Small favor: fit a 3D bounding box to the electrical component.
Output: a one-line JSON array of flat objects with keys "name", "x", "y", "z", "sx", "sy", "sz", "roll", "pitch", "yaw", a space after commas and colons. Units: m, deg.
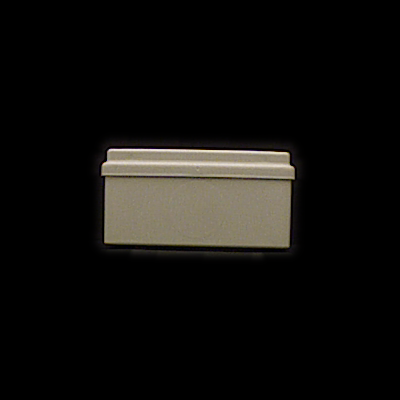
[{"name": "electrical component", "x": 0.000, "y": 0.000, "z": 0.651, "sx": 0.109, "sy": 0.056, "sz": 0.108, "roll": 1, "pitch": 0, "yaw": 1}]
